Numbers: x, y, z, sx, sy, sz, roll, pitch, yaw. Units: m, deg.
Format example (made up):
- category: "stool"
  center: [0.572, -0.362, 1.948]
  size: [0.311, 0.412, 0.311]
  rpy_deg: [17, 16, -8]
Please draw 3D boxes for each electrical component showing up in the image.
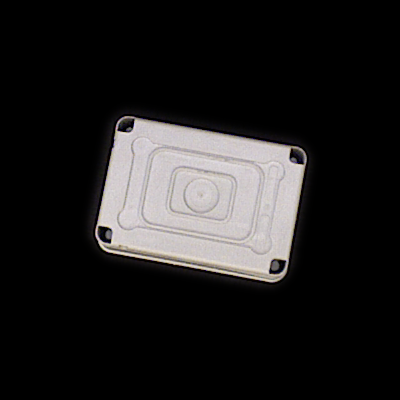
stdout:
- category: "electrical component"
  center: [0.000, 0.000, 0.629]
  size: [0.113, 0.078, 0.057]
  rpy_deg: [11, -6, 1]
